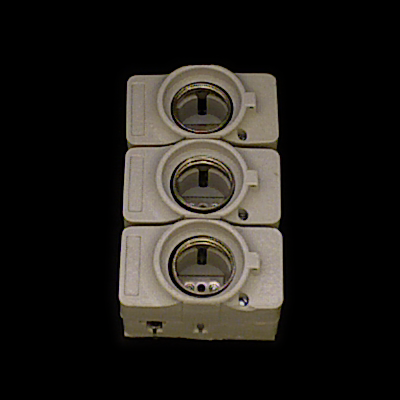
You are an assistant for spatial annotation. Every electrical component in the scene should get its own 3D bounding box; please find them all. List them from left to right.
[{"bbox_3d":[0.000,0.000,0.631,0.089,0.149,0.062,0,-27,0],"label":"electrical component"}]
